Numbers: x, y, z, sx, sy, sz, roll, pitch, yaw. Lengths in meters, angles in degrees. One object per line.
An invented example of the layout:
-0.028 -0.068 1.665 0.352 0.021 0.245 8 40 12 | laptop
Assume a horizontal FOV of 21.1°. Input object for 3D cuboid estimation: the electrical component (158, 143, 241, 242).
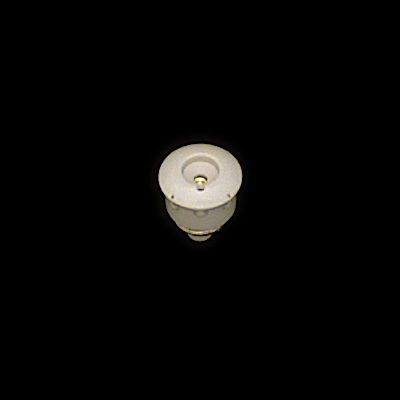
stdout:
0.000 0.000 0.635 0.048 0.048 0.062 0 -37 0 | electrical component
